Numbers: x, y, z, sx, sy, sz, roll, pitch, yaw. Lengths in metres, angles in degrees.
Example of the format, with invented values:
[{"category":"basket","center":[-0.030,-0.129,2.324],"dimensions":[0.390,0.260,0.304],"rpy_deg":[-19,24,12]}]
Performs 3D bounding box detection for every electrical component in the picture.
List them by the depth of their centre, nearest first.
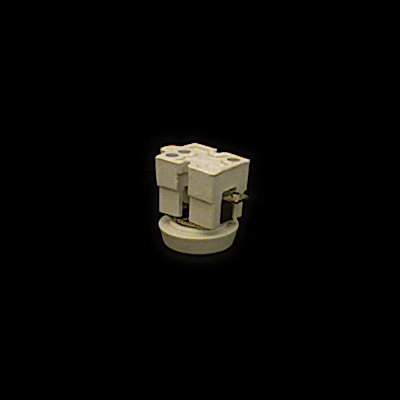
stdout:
[{"category":"electrical component","center":[0.000,0.000,0.647],"dimensions":[0.065,0.056,0.048],"rpy_deg":[19,27,35]}]
